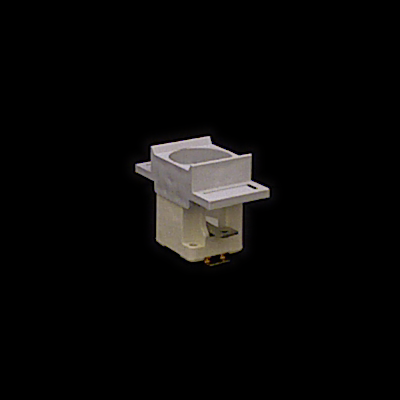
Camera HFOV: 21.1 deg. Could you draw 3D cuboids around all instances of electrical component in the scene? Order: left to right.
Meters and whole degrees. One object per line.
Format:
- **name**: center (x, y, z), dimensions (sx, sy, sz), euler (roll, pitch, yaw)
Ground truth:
- **electrical component**: center (0.000, 0.000, 0.636), dimensions (0.042, 0.064, 0.080), euler (-11, 24, -32)
